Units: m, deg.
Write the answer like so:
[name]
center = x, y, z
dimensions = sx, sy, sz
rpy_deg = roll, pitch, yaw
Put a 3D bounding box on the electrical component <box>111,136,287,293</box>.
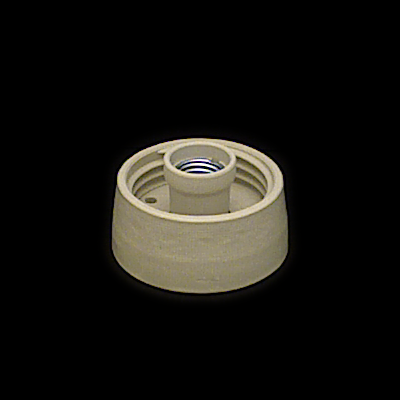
[electrical component]
center = 0.000, 0.000, 0.642
dimensions = 0.108, 0.061, 0.106
rpy_deg = 1, 32, 0
